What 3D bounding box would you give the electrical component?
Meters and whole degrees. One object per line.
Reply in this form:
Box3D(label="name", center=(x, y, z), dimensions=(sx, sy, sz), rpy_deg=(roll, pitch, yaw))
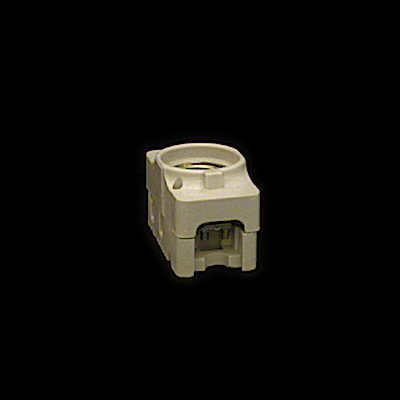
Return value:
Box3D(label="electrical component", center=(0.000, 0.000, 0.646), dimensions=(0.050, 0.056, 0.088), rpy_deg=(-5, 22, -14))
